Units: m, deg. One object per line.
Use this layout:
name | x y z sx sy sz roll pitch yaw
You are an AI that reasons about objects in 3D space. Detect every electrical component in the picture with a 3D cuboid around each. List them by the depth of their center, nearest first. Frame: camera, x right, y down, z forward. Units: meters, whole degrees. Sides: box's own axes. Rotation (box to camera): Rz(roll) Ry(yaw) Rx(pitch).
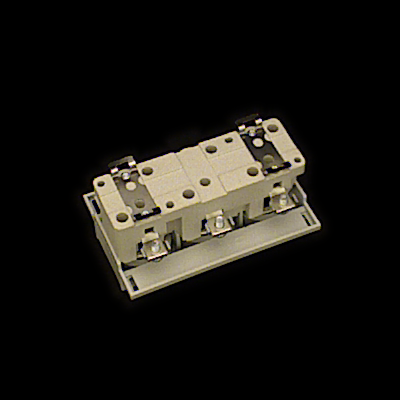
electrical component | 0.000 0.000 0.636 0.122 0.078 0.063 -20 -35 -15
